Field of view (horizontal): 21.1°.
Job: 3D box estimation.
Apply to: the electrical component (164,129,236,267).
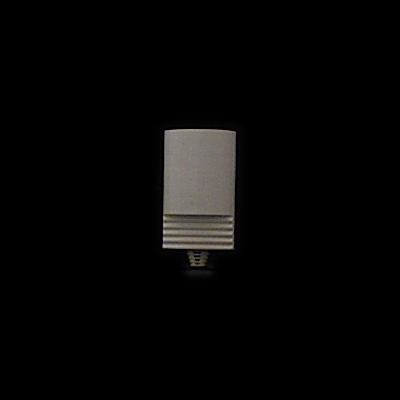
[{"bbox_3d":[0.000,0.000,0.648,0.043,0.081,0.043,1,0,0],"label":"electrical component"}]
